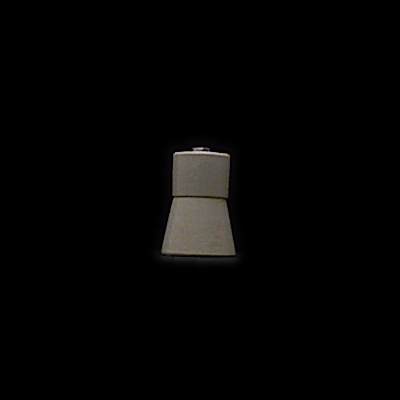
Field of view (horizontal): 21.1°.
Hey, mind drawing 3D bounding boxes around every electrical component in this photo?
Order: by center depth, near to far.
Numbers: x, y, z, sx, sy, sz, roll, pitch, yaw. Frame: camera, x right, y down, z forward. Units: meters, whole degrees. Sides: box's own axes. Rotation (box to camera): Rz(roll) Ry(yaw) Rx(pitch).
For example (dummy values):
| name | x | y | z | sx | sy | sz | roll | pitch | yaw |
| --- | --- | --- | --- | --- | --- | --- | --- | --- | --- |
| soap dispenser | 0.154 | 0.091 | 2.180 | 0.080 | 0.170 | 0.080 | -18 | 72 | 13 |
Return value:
| name | x | y | z | sx | sy | sz | roll | pitch | yaw |
| --- | --- | --- | --- | --- | --- | --- | --- | --- | --- |
| electrical component | 0.000 | 0.000 | 0.649 | 0.044 | 0.065 | 0.044 | 2 | 0 | 0 |
